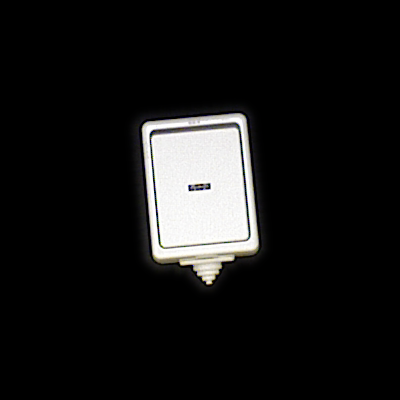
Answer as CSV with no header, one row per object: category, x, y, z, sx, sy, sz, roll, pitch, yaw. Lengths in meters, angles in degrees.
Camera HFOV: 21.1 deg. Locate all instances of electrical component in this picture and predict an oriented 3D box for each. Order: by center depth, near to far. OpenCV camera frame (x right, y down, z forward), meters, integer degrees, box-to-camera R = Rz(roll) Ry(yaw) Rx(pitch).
electrical component,0.000,0.000,0.626,0.062,0.096,0.061,-5,-7,0
